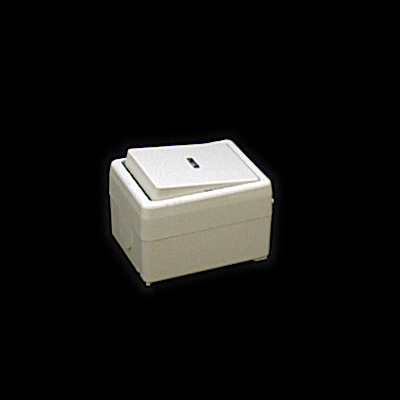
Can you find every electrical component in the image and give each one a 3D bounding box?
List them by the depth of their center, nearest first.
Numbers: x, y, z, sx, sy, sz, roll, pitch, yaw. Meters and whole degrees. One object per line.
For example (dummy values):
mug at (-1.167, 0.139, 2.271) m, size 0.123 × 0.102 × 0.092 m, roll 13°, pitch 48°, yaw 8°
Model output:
electrical component at (0.000, 0.000, 0.635) m, size 0.096 × 0.061 × 0.061 m, roll -12°, pitch 33°, yaw -20°
